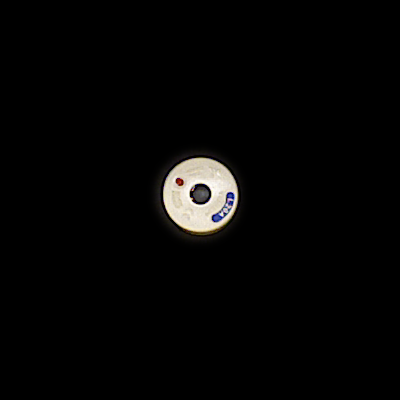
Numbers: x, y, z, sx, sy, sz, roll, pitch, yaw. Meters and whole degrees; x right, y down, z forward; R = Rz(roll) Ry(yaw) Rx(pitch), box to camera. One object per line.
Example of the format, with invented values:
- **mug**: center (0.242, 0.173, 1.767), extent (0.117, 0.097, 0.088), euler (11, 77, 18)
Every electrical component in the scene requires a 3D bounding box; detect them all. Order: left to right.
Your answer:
- **electrical component**: center (0.000, 0.000, 0.618), extent (0.040, 0.040, 0.078), euler (0, -6, 1)
